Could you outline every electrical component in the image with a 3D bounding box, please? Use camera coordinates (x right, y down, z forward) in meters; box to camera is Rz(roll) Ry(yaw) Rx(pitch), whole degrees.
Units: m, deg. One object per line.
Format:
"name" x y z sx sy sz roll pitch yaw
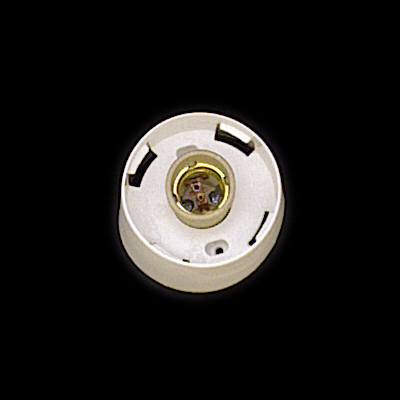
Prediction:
"electrical component" 0.000 0.000 0.625 0.099 0.099 0.064 0 -17 0
